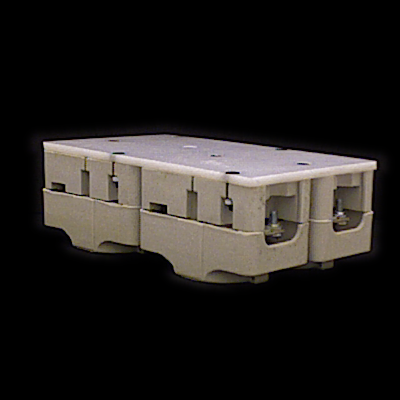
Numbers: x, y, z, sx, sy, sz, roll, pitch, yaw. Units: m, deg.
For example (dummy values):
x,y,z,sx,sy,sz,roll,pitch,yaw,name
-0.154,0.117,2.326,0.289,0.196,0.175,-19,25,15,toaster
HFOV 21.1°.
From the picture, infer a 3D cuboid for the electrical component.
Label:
x,y,z,sx,sy,sz,roll,pitch,yaw,name
0.000,0.000,0.644,0.105,0.060,0.185,-8,13,-43,electrical component
